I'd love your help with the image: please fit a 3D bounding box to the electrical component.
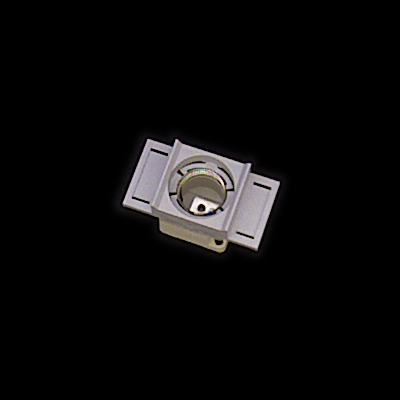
[{"bbox_3d":[0.000,0.000,0.624,0.081,0.042,0.063,19,-17,6],"label":"electrical component"}]
